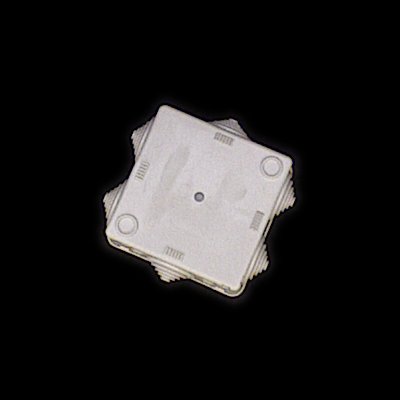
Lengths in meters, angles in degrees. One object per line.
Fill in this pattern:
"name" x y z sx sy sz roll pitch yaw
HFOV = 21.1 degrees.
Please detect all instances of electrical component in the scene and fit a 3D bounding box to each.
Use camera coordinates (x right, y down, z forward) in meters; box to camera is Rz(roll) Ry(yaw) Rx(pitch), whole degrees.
"electrical component" 0.000 0.000 0.632 0.100 0.100 0.048 23 -6 3
